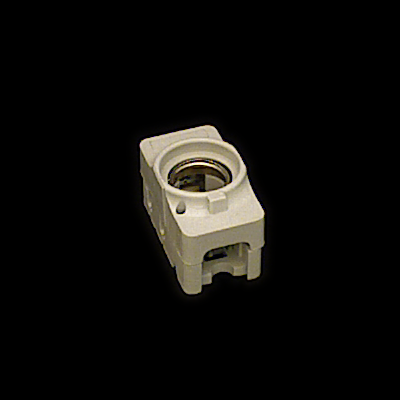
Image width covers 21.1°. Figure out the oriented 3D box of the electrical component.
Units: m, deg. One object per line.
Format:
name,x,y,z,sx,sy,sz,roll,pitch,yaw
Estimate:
electrical component,0.000,0.000,0.639,0.050,0.056,0.088,-14,44,-15
